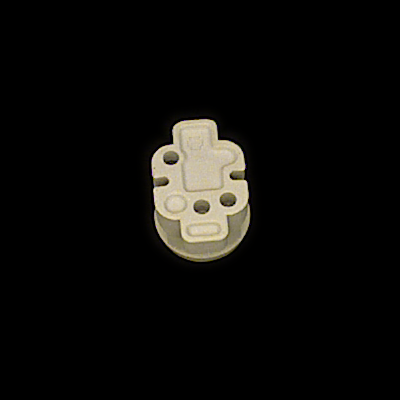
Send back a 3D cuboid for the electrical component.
[{"bbox_3d":[0.000,0.000,0.636,0.058,0.078,0.057,-6,-28,-2],"label":"electrical component"}]
